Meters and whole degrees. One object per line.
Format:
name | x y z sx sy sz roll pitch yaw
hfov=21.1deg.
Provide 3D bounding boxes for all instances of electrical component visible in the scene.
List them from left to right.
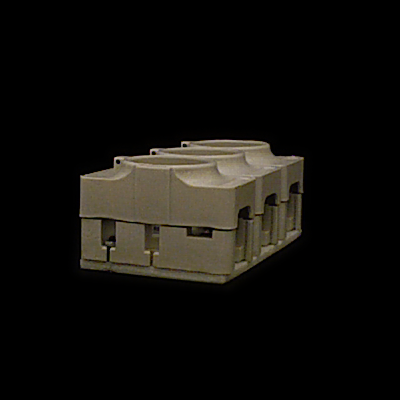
electrical component | 0.000 0.000 0.650 0.089 0.062 0.149 4 10 20
